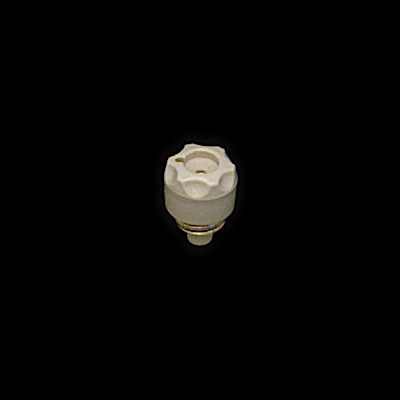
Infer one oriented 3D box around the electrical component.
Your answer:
[{"bbox_3d":[0.000,0.000,0.638,0.043,0.062,0.043,1,42,0],"label":"electrical component"}]
